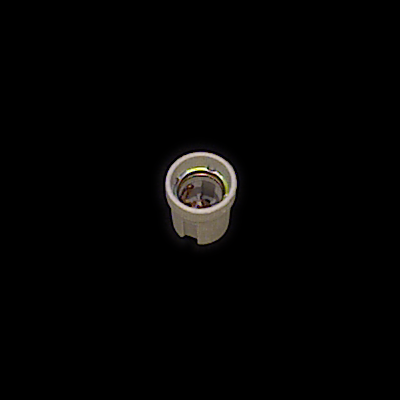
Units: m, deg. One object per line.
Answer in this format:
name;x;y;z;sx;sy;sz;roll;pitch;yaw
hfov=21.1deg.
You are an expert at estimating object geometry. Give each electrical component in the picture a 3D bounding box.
electrical component;0.000;0.000;0.629;0.040;0.040;0.046;0;-28;0
